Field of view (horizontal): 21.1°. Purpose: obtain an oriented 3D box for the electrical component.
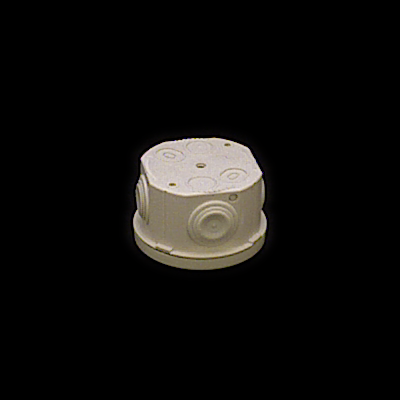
[{"bbox_3d":[0.000,0.000,0.638,0.080,0.051,0.079,1,31,0],"label":"electrical component"}]
